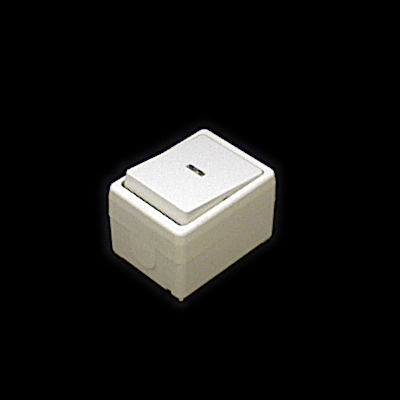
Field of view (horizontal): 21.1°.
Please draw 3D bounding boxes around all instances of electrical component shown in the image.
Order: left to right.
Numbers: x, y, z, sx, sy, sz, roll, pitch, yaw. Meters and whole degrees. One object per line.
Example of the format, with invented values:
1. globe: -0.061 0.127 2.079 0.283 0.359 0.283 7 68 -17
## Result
1. electrical component: 0.000 0.000 0.631 0.061 0.061 0.096 34 51 31
